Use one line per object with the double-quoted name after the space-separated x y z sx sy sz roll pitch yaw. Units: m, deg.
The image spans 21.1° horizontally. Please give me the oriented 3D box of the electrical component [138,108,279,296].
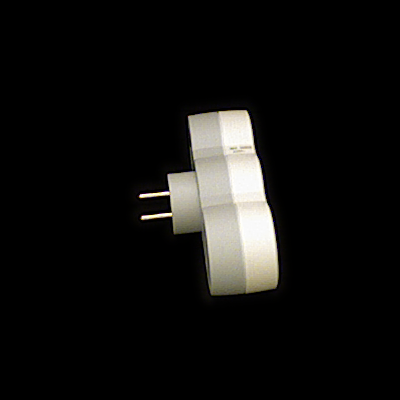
0.000 0.000 0.641 0.074 0.053 0.136 -5 43 -4 "electrical component"
